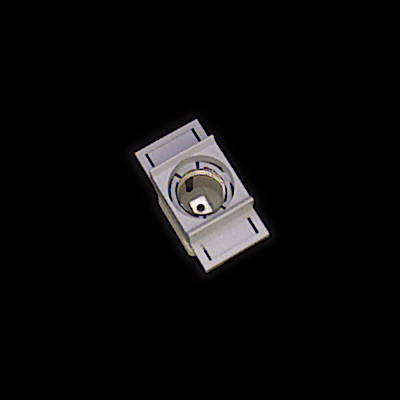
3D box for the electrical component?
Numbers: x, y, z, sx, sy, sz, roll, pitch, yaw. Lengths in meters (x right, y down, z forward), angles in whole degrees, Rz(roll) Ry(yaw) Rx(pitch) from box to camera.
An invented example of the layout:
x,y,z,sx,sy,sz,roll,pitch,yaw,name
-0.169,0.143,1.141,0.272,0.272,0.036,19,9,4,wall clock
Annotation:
x,y,z,sx,sy,sz,roll,pitch,yaw,name
0.000,0.000,0.623,0.042,0.081,0.063,-29,-15,-9,electrical component
